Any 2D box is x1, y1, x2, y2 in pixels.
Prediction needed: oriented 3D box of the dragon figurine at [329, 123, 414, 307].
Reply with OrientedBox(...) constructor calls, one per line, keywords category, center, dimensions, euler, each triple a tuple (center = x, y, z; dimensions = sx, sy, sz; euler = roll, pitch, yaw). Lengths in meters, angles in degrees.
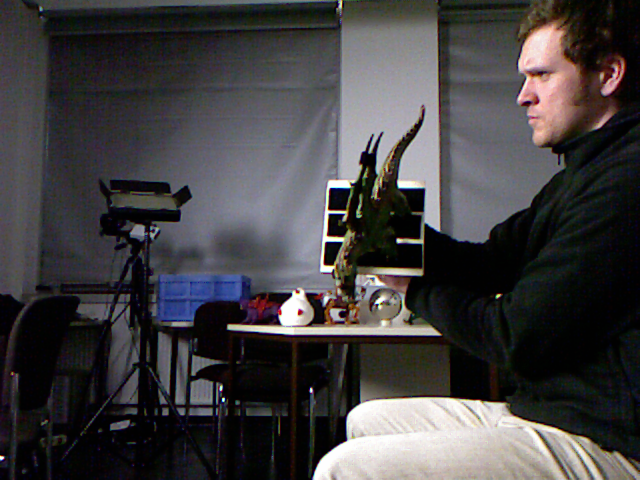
OrientedBox(category="dragon figurine", center=(0.101, -0.079, 0.931), dimensions=(0.123, 0.417, 0.241), euler=(15, -13, 12))
